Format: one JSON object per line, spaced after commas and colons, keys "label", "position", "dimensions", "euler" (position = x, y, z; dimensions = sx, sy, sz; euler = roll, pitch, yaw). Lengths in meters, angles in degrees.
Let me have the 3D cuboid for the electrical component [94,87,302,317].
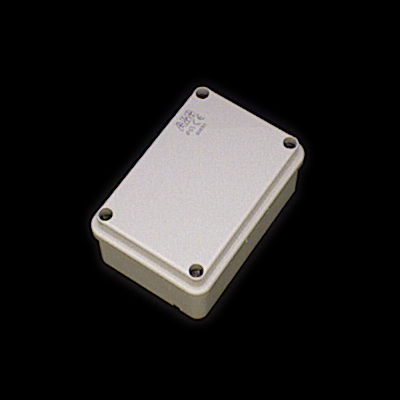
{"label": "electrical component", "position": [0.000, 0.000, 0.627], "dimensions": [0.078, 0.113, 0.057], "euler": [31, -23, 14]}
